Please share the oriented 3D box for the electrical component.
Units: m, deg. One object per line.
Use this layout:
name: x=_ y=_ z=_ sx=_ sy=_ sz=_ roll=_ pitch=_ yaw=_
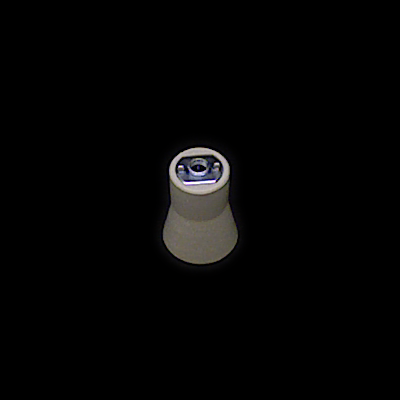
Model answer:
electrical component: x=0.000 y=0.000 z=0.628 sx=0.044 sy=0.044 sz=0.065 roll=0 pitch=-39 yaw=0
